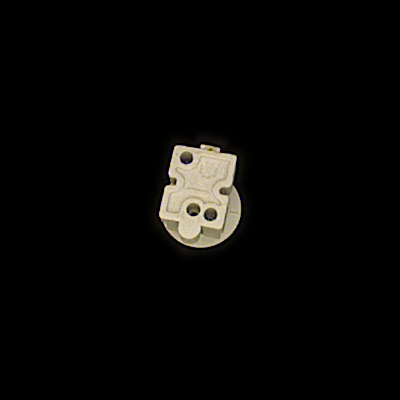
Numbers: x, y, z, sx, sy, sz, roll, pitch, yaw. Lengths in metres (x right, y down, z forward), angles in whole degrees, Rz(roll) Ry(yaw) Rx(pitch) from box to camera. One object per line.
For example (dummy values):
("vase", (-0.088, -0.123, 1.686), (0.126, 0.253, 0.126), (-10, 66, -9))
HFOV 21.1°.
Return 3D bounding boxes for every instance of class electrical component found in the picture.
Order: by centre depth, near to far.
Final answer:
("electrical component", (0.000, 0.000, 0.637), (0.048, 0.067, 0.055), (11, -17, 4))
